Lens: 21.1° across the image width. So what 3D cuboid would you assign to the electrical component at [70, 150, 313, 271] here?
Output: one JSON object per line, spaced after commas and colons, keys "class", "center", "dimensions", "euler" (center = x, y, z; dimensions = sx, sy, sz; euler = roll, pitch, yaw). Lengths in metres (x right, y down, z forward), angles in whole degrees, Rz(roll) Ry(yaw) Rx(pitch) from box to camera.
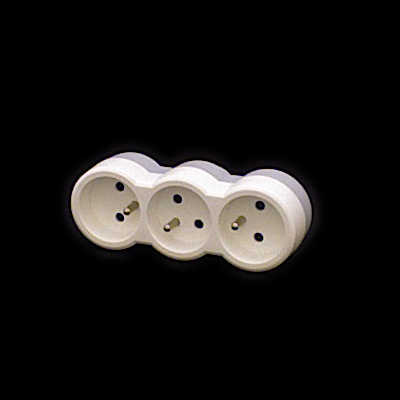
{"class": "electrical component", "center": [0.000, 0.000, 0.641], "dimensions": [0.137, 0.053, 0.073], "euler": [7, 20, 18]}
